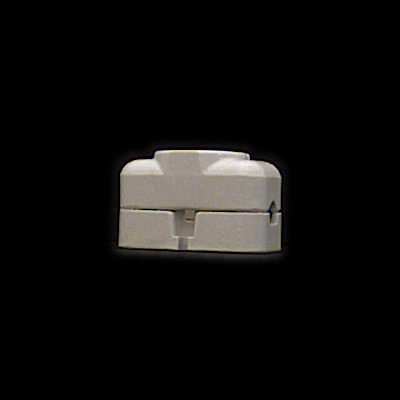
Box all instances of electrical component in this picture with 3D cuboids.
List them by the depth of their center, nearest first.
[{"bbox_3d":[0.000,0.000,0.658,0.094,0.059,0.054,2,2,21],"label":"electrical component"}]
